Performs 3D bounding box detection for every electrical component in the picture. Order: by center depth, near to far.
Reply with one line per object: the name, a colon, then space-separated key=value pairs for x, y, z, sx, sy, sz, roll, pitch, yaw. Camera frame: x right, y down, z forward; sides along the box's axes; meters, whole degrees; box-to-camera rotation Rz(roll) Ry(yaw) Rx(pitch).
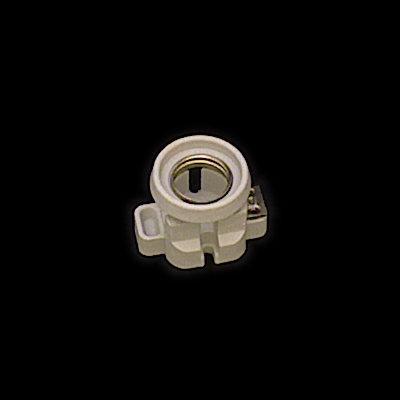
electrical component: x=0.000 y=0.000 z=0.630 sx=0.078 sy=0.057 sz=0.057 roll=-9 pitch=-37 yaw=-8
